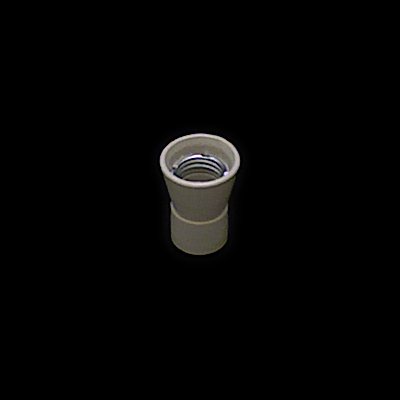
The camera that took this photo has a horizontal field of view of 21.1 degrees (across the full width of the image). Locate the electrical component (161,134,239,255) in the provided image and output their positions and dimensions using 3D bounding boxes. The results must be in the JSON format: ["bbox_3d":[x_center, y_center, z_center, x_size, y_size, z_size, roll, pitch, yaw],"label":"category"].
[{"bbox_3d":[0.000,0.000,0.627,0.044,0.066,0.044,1,43,0],"label":"electrical component"}]
